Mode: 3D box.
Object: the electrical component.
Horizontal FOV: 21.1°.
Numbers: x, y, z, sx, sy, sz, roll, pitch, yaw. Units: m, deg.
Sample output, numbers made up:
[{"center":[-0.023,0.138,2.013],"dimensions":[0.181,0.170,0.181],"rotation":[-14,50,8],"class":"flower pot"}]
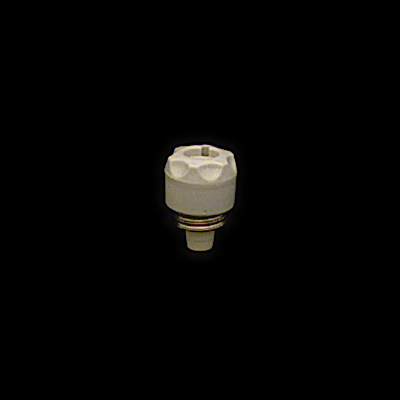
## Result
[{"center":[0.000,0.000,0.645],"dimensions":[0.043,0.063,0.043],"rotation":[1,23,0],"class":"electrical component"}]
